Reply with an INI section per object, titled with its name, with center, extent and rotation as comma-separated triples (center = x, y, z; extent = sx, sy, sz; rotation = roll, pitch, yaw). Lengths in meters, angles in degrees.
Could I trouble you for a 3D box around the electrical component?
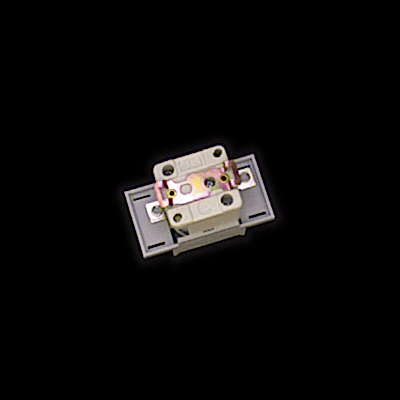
[electrical component]
center = 0.000, 0.000, 0.625
extent = 0.081, 0.042, 0.063
rotation = -17, -16, -5
